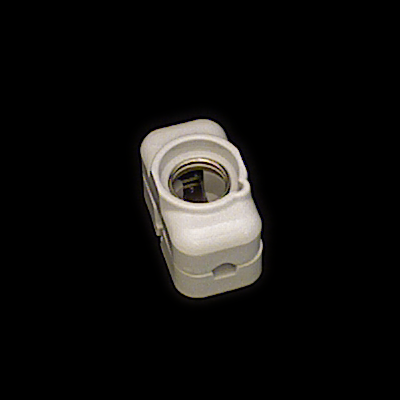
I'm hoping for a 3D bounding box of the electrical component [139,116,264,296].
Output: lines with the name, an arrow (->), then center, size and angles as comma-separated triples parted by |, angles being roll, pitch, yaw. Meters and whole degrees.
electrical component -> 0.000, 0.000, 0.635 | 0.054, 0.094, 0.059 | -14, -35, -10
